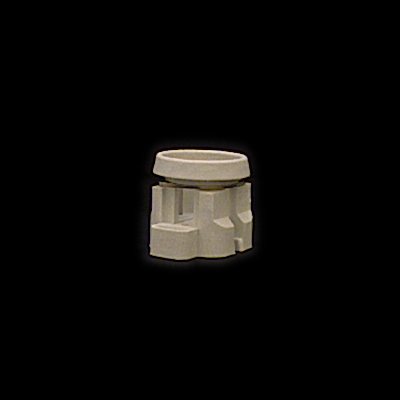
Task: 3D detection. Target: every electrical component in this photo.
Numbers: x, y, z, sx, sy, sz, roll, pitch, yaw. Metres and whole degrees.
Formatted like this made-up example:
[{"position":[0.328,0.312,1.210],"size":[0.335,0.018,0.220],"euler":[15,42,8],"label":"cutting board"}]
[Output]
[{"position":[0.000,0.000,0.646],"size":[0.057,0.057,0.078],"euler":[8,12,31],"label":"electrical component"}]
